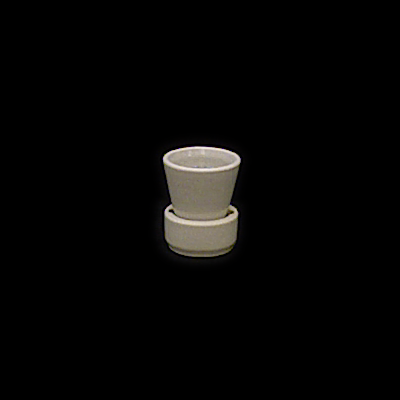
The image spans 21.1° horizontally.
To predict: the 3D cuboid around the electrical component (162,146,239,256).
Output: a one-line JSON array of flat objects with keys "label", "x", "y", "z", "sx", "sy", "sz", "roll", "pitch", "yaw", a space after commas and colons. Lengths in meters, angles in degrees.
[{"label": "electrical component", "x": 0.000, "y": 0.000, "z": 0.640, "sx": 0.045, "sy": 0.056, "sz": 0.044, "roll": 1, "pitch": 21, "yaw": 0}]
